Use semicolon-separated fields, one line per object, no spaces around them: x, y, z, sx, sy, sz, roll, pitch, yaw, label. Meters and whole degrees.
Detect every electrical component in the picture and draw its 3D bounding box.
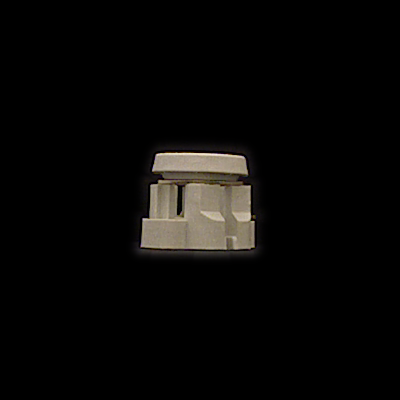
0.000;0.000;0.652;0.057;0.057;0.079;2;1;45;electrical component
